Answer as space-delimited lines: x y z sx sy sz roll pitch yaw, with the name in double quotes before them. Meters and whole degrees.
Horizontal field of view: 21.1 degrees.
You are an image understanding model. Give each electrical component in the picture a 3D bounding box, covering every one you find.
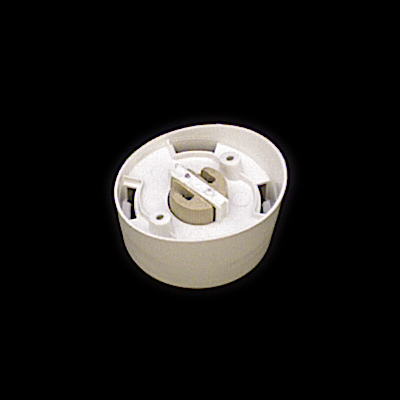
"electrical component" 0.000 0.000 0.626 0.099 0.098 0.064 0 -37 -2
